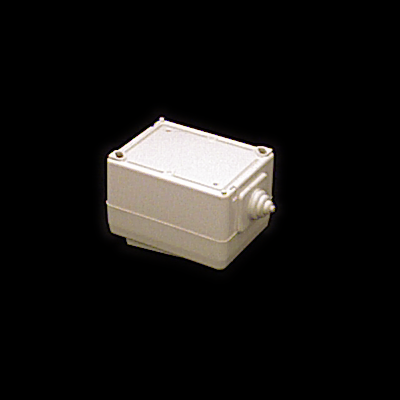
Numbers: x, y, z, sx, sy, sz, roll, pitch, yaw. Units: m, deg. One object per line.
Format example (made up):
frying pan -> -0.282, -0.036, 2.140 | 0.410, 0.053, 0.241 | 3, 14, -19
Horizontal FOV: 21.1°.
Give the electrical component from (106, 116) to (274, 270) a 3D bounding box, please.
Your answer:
electrical component -> 0.000, 0.000, 0.632 | 0.096, 0.061, 0.061 | 18, 36, 24
